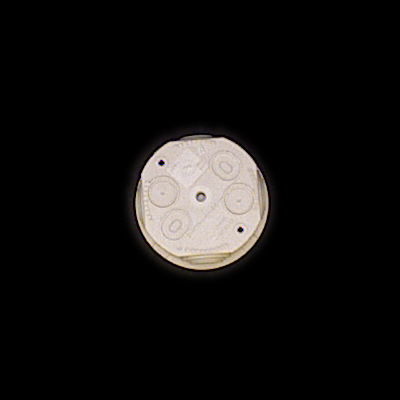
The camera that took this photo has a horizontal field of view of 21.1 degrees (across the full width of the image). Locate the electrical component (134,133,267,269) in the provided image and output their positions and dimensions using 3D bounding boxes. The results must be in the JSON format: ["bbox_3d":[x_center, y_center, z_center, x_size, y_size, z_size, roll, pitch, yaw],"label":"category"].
[{"bbox_3d":[0.000,0.000,0.634,0.080,0.080,0.050,0,-7,1],"label":"electrical component"}]
